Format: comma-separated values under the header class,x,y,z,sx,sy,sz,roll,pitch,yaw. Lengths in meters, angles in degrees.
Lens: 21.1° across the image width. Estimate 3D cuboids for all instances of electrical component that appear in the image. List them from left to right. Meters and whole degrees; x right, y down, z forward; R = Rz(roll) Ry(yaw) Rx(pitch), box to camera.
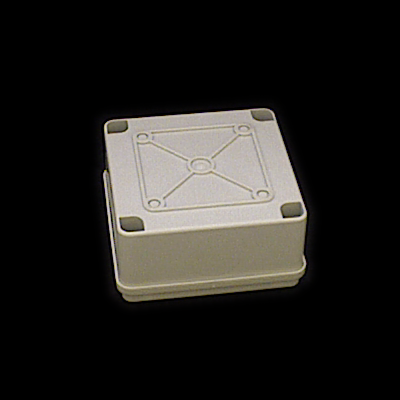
class,x,y,z,sx,sy,sz,roll,pitch,yaw
electrical component,0.000,0.000,0.634,0.109,0.057,0.107,-5,42,-7
